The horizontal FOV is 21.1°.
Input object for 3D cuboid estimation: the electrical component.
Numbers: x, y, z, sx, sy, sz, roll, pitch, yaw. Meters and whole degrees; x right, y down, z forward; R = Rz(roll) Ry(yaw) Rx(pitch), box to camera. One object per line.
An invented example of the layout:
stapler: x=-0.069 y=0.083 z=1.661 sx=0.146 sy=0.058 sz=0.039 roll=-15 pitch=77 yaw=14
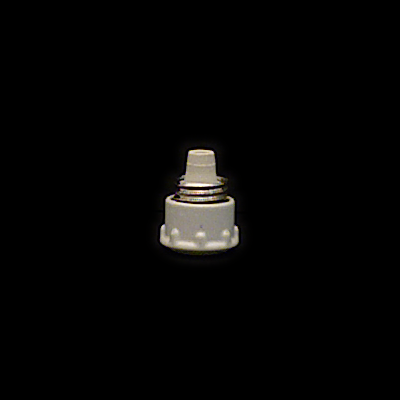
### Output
electrical component: x=0.000 y=0.000 z=0.649 sx=0.048 sy=0.062 sz=0.047 roll=1 pitch=13 yaw=0
